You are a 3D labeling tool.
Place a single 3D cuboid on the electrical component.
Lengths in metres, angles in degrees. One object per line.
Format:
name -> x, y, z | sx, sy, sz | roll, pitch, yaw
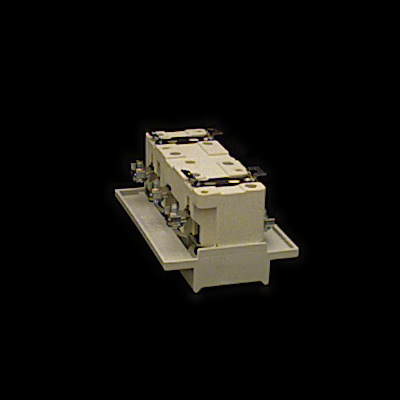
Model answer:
electrical component -> 0.000, 0.000, 0.647 | 0.079, 0.064, 0.119 | -5, 23, -17
